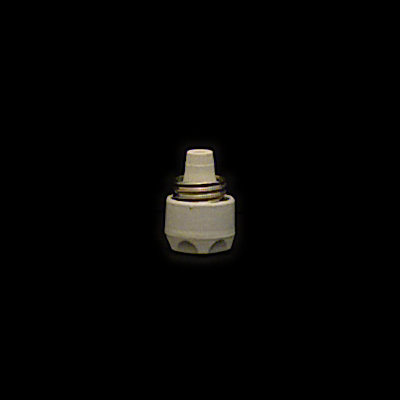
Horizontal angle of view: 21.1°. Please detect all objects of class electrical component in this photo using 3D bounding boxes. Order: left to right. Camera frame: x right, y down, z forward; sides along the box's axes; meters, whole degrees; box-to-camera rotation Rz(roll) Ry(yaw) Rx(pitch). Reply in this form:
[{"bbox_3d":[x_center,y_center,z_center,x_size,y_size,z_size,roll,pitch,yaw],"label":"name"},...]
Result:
[{"bbox_3d":[0.000,0.000,0.651,0.043,0.062,0.043,0,12,1],"label":"electrical component"}]
